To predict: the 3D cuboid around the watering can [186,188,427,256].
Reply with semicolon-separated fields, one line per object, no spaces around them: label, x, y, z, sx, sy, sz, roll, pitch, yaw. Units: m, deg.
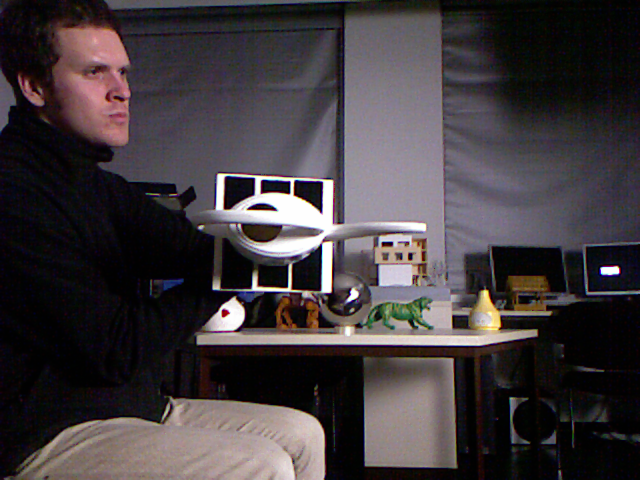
watering can;-0.027;-0.025;0.812;0.349;0.104;0.226;4;2;-4
